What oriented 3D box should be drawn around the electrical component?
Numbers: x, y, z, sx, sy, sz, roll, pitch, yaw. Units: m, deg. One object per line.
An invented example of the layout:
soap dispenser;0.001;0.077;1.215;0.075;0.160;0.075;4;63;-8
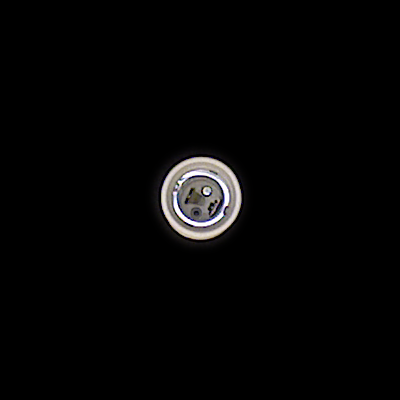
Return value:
electrical component;0.000;0.000;0.629;0.045;0.045;0.055;0;-6;0
